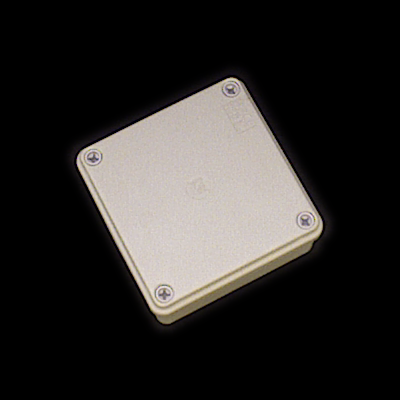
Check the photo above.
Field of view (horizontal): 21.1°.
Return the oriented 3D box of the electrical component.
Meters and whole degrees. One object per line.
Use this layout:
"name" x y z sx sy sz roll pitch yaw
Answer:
"electrical component" 0.000 0.000 0.629 0.109 0.109 0.056 -27 -15 -8
